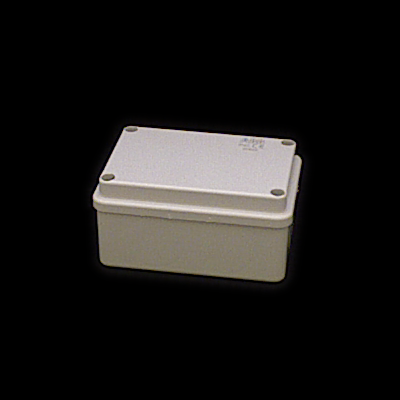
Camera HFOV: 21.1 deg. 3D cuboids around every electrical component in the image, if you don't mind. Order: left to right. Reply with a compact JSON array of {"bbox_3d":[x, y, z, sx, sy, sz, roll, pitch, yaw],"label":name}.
[{"bbox_3d":[0.000,0.000,0.637,0.113,0.058,0.077,5,31,7],"label":"electrical component"}]
